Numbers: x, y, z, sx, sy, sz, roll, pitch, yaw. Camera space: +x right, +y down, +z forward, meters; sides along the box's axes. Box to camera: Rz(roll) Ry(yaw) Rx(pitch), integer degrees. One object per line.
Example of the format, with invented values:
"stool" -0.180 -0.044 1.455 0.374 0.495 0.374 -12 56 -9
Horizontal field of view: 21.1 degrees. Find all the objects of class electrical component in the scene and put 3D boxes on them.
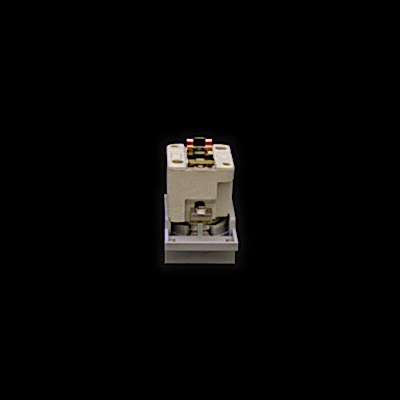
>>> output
"electrical component" 0.000 0.000 0.638 0.042 0.064 0.080 0 21 -3
